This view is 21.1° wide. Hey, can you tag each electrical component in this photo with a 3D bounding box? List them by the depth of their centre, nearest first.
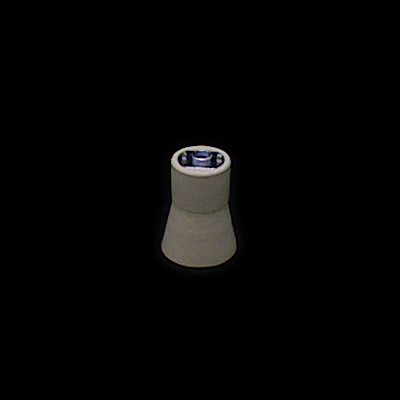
[{"bbox_3d":[0.000,0.000,0.632,0.044,0.066,0.044,1,32,0],"label":"electrical component"}]
